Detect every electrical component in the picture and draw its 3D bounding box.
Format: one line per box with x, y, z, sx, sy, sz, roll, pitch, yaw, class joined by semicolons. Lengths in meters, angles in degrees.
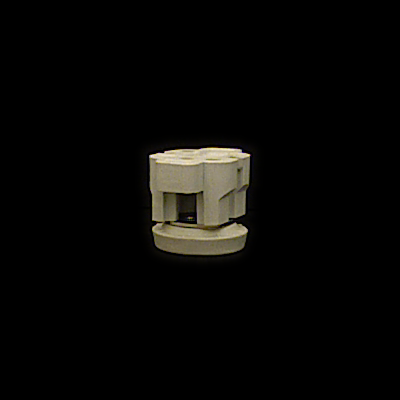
0.000;0.000;0.653;0.057;0.057;0.078;5;10;22;electrical component
